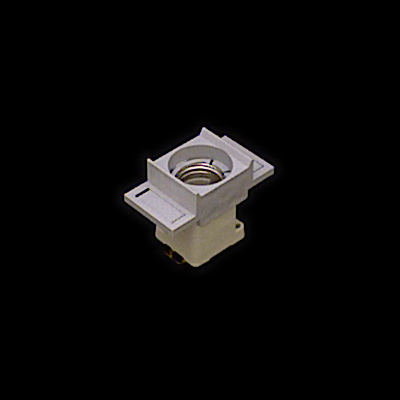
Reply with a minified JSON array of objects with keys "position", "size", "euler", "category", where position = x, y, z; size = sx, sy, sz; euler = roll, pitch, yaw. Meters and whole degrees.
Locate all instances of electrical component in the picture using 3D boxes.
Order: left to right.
[{"position":[0.000,0.000,0.631],"size":[0.080,0.064,0.042],"euler":[-31,50,-30],"category":"electrical component"}]
